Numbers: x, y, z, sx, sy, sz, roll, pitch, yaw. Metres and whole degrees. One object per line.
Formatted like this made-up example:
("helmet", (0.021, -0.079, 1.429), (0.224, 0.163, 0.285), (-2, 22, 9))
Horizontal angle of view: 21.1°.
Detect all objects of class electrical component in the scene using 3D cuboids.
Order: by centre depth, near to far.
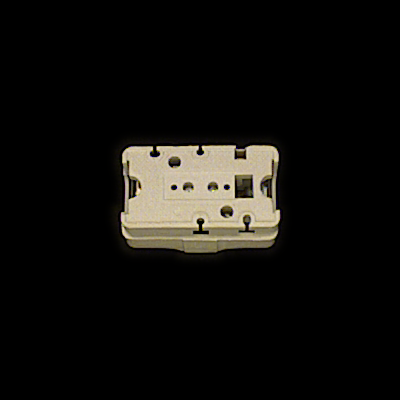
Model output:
("electrical component", (0.000, 0.000, 0.636), (0.089, 0.050, 0.055), (0, -17, 0))
